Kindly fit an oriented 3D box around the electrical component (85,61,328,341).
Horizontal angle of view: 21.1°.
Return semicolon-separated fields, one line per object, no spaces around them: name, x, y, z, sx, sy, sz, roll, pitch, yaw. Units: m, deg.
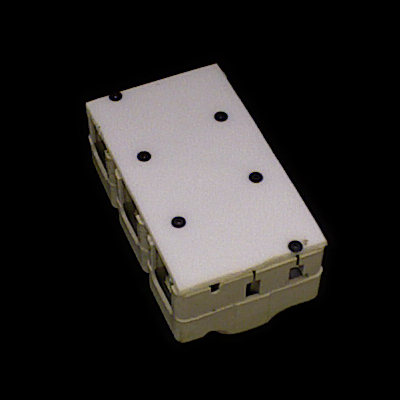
electrical component;0.000;0.000;0.634;0.089;0.148;0.062;-18;-36;-14
